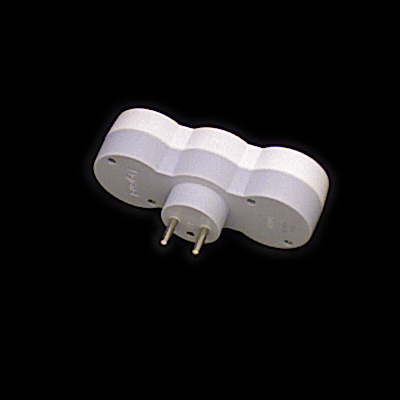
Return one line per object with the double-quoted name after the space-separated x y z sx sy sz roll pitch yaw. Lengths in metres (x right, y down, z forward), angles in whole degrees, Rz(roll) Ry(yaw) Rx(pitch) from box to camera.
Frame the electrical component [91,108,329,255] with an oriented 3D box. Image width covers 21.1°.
0.000 0.000 0.631 0.138 0.073 0.052 17 -34 11 "electrical component"
